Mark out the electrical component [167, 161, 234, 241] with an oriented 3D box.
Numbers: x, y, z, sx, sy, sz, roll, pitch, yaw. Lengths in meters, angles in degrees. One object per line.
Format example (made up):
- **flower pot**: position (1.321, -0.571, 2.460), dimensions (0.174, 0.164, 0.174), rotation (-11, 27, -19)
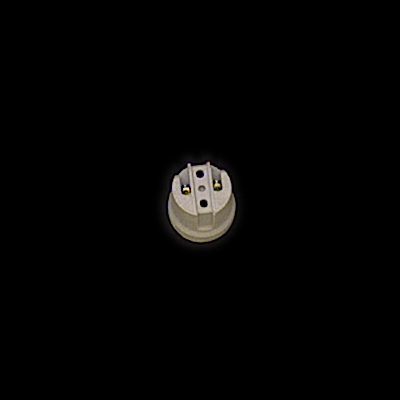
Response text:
- **electrical component**: position (0.000, 0.000, 0.634), dimensions (0.040, 0.040, 0.046), rotation (0, -16, 0)
